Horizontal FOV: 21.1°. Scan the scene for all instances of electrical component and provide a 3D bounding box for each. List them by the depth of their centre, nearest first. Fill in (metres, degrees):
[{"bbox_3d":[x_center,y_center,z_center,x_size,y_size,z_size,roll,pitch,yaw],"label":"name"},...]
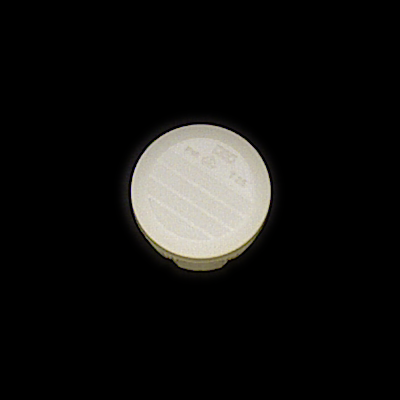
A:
[{"bbox_3d":[0.000,0.000,0.629,0.080,0.080,0.050,0,-17,0],"label":"electrical component"}]
